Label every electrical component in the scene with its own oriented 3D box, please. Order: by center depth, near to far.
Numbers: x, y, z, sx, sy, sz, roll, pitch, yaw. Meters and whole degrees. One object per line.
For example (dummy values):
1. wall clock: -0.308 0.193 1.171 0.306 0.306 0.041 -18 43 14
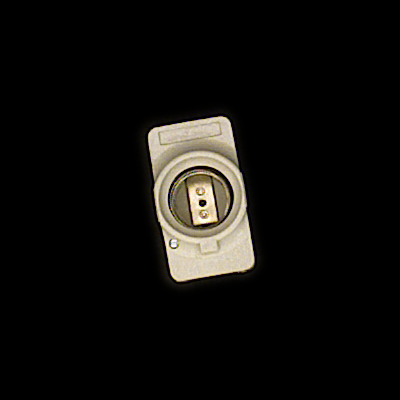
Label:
1. electrical component: 0.000 0.000 0.637 0.050 0.090 0.055 -10 -6 0
